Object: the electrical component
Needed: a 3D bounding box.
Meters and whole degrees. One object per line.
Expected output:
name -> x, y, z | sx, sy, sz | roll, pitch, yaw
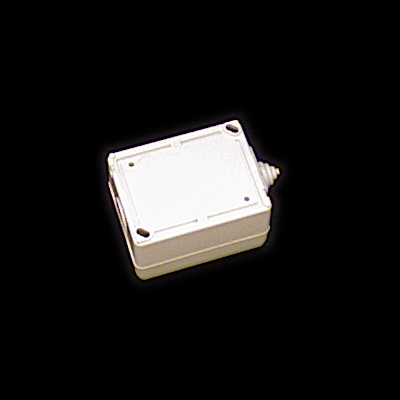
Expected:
electrical component -> 0.000, 0.000, 0.627 | 0.096, 0.062, 0.060 | -16, -26, -9
